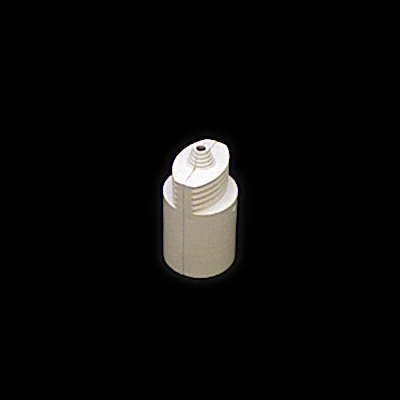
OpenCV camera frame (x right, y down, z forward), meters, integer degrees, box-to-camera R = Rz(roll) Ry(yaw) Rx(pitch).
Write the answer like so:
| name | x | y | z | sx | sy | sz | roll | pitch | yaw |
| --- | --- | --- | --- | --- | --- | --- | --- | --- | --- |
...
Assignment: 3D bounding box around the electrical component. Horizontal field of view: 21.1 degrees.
| name | x | y | z | sx | sy | sz | roll | pitch | yaw |
| --- | --- | --- | --- | --- | --- | --- | --- | --- | --- |
| electrical component | 0.000 | 0.000 | 0.623 | 0.043 | 0.082 | 0.042 | 0 | 42 | 0 |
